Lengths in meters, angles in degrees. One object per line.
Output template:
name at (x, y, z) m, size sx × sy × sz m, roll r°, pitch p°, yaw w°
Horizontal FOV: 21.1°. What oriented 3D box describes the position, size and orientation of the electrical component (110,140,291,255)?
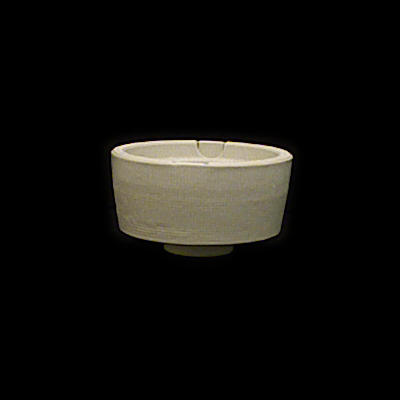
electrical component at (0.000, 0.000, 0.647) m, size 0.108 × 0.061 × 0.107 m, roll 1°, pitch 10°, yaw 0°
